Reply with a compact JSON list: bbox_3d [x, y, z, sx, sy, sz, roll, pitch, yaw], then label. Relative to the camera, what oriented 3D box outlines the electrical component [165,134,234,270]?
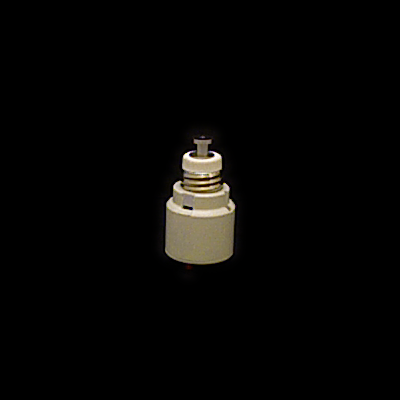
[{"bbox_3d":[0.000,0.000,0.636,0.040,0.079,0.039,2,21,0],"label":"electrical component"}]
